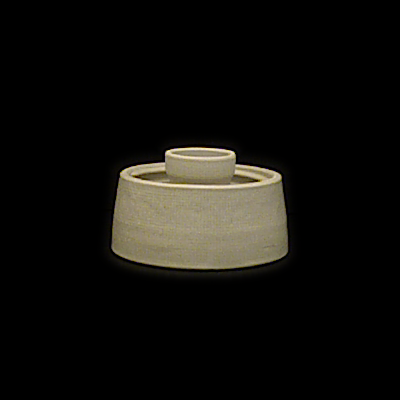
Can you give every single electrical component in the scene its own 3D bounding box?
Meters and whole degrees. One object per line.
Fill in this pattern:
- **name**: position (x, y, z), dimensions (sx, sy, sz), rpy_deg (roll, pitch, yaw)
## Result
- **electrical component**: position (0.000, 0.000, 0.651), dimensions (0.108, 0.061, 0.107), rpy_deg (1, 11, 0)
